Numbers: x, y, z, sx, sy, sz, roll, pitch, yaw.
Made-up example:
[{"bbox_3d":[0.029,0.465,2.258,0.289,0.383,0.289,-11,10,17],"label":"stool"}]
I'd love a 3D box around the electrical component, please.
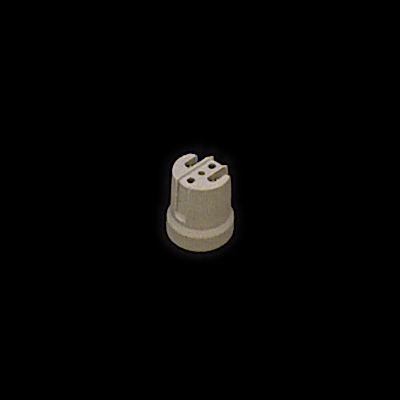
[{"bbox_3d":[0.000,0.000,0.636,0.040,0.046,0.040,1,43,0],"label":"electrical component"}]
